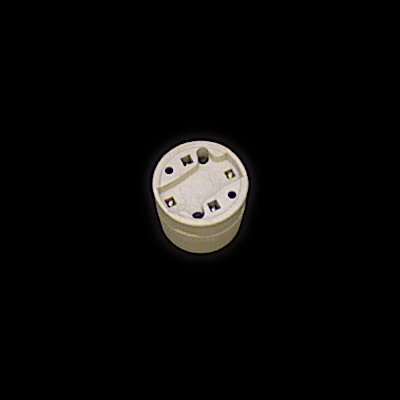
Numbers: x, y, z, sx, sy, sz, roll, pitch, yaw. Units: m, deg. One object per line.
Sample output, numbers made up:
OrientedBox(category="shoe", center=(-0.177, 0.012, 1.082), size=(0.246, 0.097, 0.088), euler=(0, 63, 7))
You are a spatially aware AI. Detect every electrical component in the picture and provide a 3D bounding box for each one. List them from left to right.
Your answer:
OrientedBox(category="electrical component", center=(0.000, 0.000, 0.633), size=(0.055, 0.056, 0.047), euler=(0, -28, 0))
